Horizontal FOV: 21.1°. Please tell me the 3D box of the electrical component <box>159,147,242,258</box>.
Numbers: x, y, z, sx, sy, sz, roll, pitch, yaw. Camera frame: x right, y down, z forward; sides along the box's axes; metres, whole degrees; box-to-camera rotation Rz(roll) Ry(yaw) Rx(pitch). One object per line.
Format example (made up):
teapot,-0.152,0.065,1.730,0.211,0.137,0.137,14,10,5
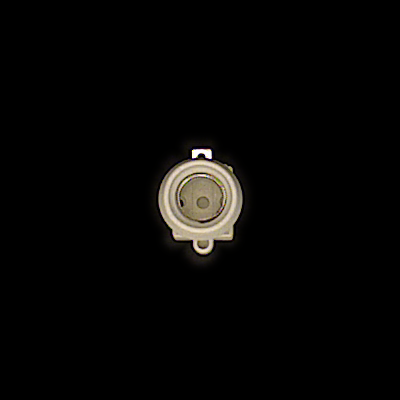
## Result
electrical component,0.000,0.000,0.639,0.048,0.066,0.055,-1,-6,-1
